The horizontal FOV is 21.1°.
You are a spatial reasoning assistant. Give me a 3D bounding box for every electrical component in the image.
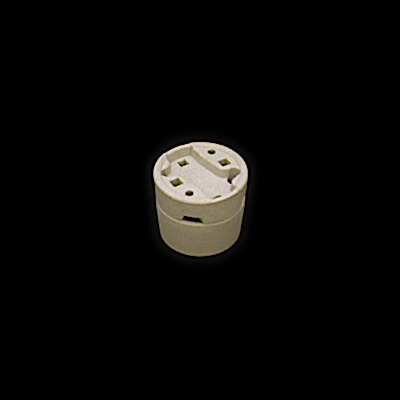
[{"bbox_3d":[0.000,0.000,0.636,0.055,0.047,0.055,1,42,0],"label":"electrical component"}]
